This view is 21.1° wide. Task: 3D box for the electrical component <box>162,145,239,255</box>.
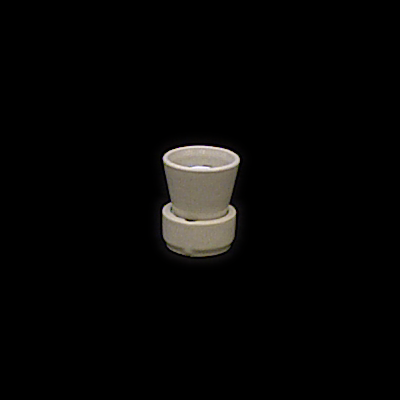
[{"bbox_3d":[0.000,0.000,0.641,0.045,0.056,0.044,1,22,0],"label":"electrical component"}]
